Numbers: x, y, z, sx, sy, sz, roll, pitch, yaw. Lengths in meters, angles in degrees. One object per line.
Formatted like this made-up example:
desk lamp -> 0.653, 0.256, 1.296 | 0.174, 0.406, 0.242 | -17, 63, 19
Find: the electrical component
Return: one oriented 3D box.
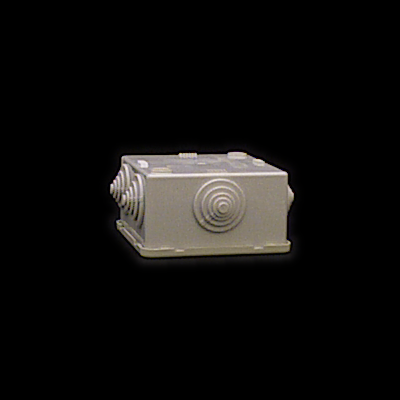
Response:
electrical component -> 0.000, 0.000, 0.646 | 0.100, 0.049, 0.099 | -1, 11, -14
